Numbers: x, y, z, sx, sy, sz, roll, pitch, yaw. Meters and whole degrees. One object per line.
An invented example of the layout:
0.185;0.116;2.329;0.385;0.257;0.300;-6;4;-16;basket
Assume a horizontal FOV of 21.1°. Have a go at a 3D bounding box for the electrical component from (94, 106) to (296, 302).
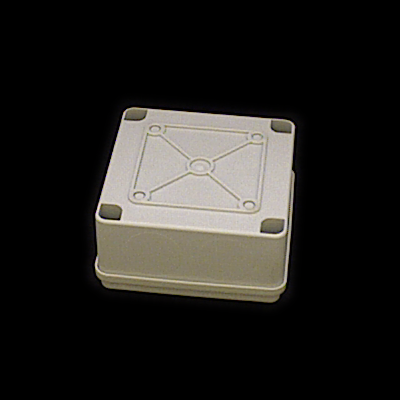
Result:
0.000;0.000;0.631;0.109;0.057;0.107;5;43;4;electrical component
